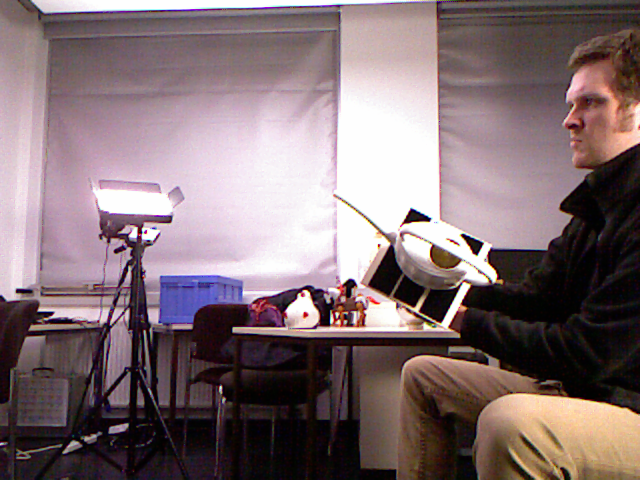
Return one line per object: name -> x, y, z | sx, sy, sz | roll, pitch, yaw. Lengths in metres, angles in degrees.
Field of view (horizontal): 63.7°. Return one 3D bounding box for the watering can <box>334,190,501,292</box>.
watering can -> 0.185, 0.009, 1.025 | 0.350, 0.105, 0.222 | 29, -12, 8
